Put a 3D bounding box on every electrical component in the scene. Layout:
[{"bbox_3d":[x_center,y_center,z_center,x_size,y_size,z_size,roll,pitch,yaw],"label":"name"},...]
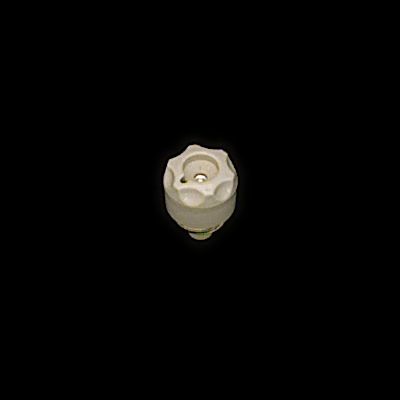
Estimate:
[{"bbox_3d":[0.000,0.000,0.636,0.043,0.043,0.062,0,-38,-1],"label":"electrical component"}]
